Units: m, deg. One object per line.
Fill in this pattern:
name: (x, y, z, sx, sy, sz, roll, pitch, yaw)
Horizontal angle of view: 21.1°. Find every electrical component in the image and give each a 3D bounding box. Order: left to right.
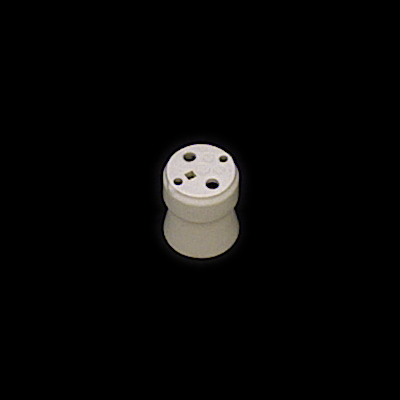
electrical component: (0.000, 0.000, 0.631, 0.045, 0.044, 0.055, 0, -38, -1)
